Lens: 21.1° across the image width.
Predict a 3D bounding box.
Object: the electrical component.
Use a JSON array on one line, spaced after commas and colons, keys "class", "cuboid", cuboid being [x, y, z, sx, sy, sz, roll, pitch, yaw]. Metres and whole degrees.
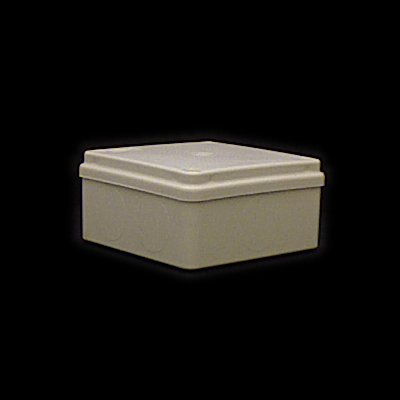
[{"class": "electrical component", "cuboid": [0.000, 0.000, 0.644, 0.108, 0.056, 0.108, -7, 14, -40]}]
